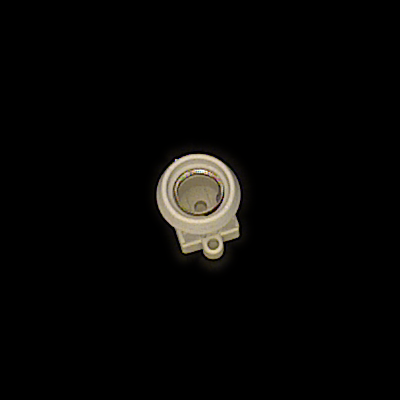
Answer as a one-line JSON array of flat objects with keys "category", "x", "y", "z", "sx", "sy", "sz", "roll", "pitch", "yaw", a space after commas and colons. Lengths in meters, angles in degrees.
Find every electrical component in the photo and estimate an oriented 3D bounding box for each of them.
[{"category": "electrical component", "x": 0.000, "y": 0.000, "z": 0.637, "sx": 0.048, "sy": 0.066, "sz": 0.055, "roll": -18, "pitch": -15, "yaw": -7}]
